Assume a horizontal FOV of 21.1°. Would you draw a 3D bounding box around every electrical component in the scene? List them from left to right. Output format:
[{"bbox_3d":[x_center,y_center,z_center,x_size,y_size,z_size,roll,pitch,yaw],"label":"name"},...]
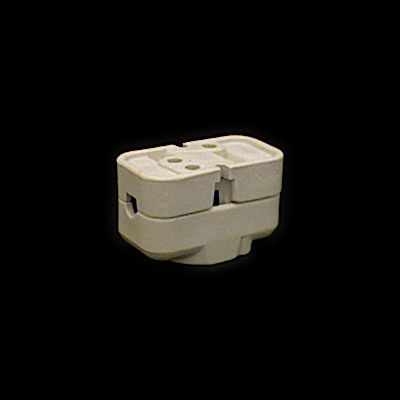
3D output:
[{"bbox_3d":[0.000,0.000,0.645,0.095,0.060,0.053,-12,25,-30],"label":"electrical component"}]
